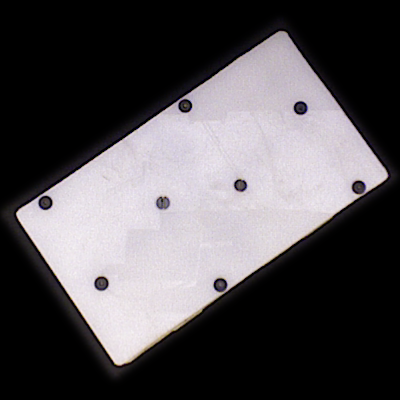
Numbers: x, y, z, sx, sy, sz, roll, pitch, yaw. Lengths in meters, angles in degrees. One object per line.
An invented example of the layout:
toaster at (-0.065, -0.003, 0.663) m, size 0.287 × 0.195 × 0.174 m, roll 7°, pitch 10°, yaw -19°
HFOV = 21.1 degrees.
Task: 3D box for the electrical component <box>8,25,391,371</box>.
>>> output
electrical component at (0.000, 0.000, 0.626) m, size 0.186 × 0.106 × 0.060 m, roll -35°, pitch -6°, yaw -4°
